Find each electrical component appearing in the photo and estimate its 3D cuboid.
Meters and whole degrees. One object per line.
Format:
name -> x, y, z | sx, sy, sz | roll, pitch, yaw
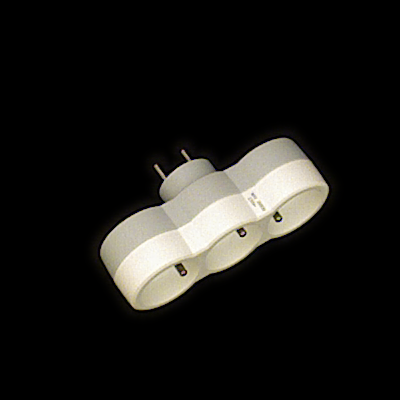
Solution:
electrical component -> 0.000, 0.000, 0.639 | 0.139, 0.073, 0.052 | -29, -25, -14
